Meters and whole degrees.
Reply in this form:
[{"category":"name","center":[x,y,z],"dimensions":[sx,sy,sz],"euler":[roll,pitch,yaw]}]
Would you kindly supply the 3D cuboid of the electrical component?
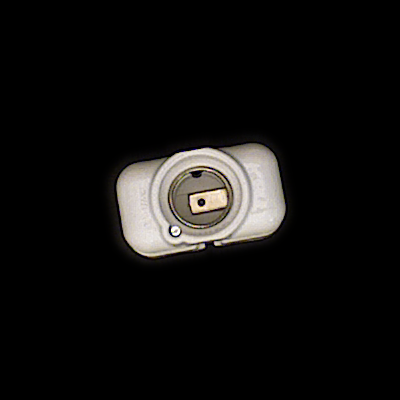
[{"category":"electrical component","center":[0.000,0.000,0.635],"dimensions":[0.095,0.054,0.059],"euler":[-11,-6,0]}]
